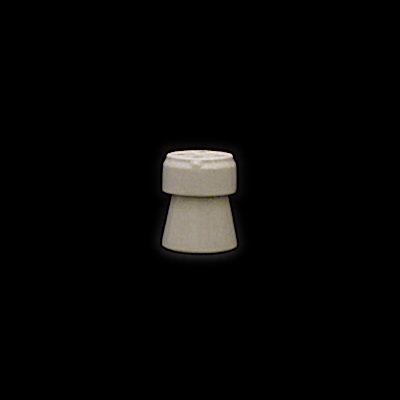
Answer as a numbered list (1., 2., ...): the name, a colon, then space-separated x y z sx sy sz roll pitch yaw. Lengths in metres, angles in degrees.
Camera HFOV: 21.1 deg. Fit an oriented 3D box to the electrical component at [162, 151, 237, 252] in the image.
1. electrical component: 0.000 0.000 0.644 0.045 0.055 0.044 1 11 0
